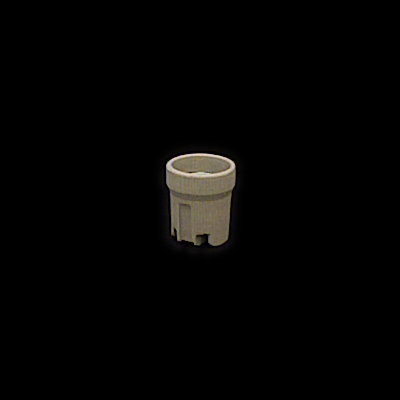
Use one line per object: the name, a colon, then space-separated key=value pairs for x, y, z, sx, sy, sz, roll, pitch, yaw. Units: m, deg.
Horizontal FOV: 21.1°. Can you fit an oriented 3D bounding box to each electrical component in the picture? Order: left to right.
electrical component: x=0.000 y=0.000 z=0.638 sx=0.040 sy=0.047 sz=0.039 roll=1 pitch=21 yaw=0
